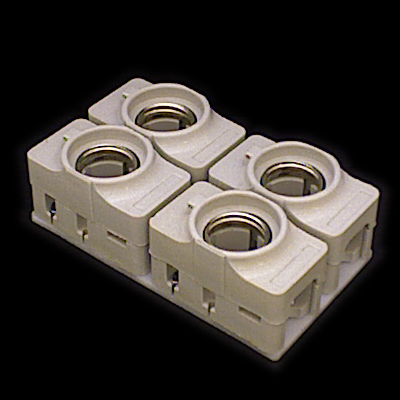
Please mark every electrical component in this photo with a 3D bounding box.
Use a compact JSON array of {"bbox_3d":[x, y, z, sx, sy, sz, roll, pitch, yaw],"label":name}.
[{"bbox_3d":[0.000,0.000,0.629,0.185,0.061,0.105,27,48,27],"label":"electrical component"}]
